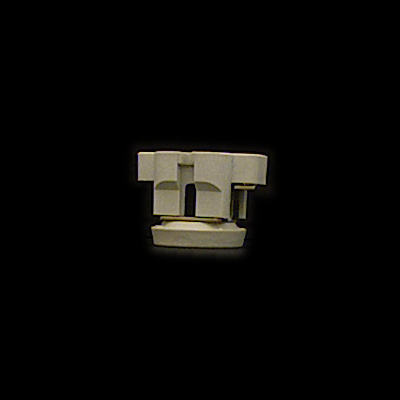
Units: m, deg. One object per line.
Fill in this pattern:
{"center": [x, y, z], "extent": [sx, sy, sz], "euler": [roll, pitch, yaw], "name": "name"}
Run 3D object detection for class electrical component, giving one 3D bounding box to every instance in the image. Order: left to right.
{"center": [0.000, 0.000, 0.657], "extent": [0.078, 0.057, 0.058], "euler": [3, 1, 20], "name": "electrical component"}
